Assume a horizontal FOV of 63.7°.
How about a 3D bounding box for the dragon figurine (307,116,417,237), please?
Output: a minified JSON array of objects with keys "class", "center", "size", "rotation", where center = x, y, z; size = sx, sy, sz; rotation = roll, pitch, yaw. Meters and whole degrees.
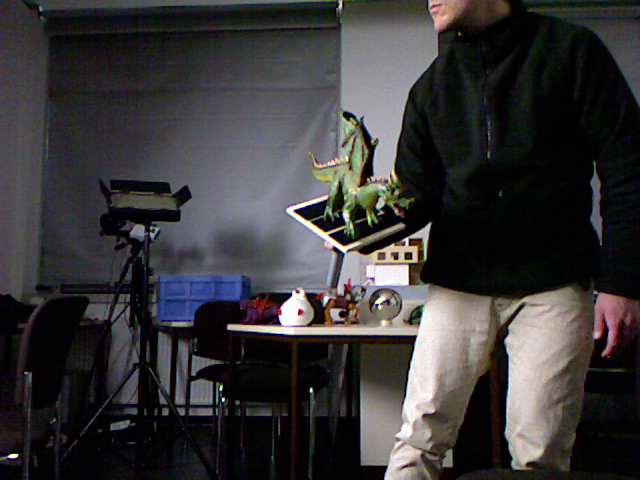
[{"class":"dragon figurine","center":[0.069,-0.166,1.162],"size":[0.123,0.237,0.418],"rotation":[-16,42,-27]}]
